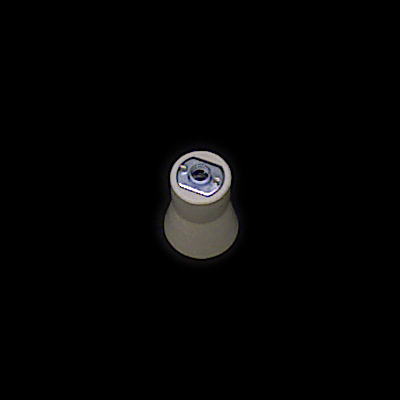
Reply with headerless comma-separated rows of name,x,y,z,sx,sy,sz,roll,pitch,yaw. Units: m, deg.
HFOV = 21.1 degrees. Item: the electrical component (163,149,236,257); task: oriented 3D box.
electrical component,0.000,0.000,0.626,0.044,0.044,0.065,0,-28,0
